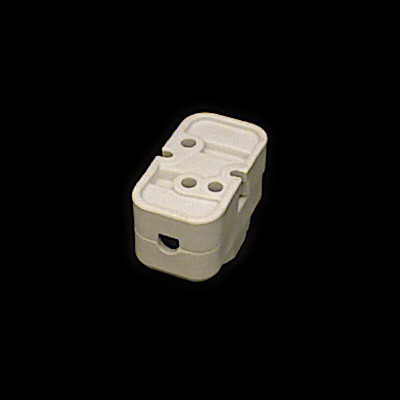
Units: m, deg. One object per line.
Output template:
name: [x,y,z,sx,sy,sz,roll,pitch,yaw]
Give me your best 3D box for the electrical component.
electrical component: [0.000,0.000,0.639,0.053,0.060,0.095,16,44,17]
